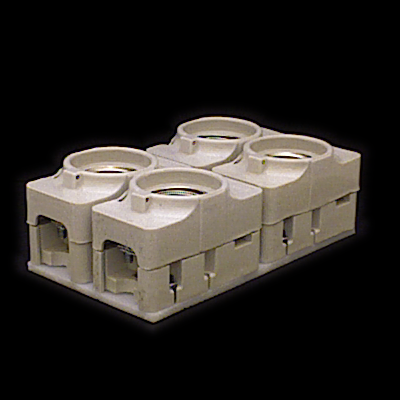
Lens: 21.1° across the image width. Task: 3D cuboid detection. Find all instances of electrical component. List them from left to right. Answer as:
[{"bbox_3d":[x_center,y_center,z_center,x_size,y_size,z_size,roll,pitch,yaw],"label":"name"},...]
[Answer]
[{"bbox_3d":[0.000,0.000,0.637,0.104,0.061,0.185,19,27,39],"label":"electrical component"}]
